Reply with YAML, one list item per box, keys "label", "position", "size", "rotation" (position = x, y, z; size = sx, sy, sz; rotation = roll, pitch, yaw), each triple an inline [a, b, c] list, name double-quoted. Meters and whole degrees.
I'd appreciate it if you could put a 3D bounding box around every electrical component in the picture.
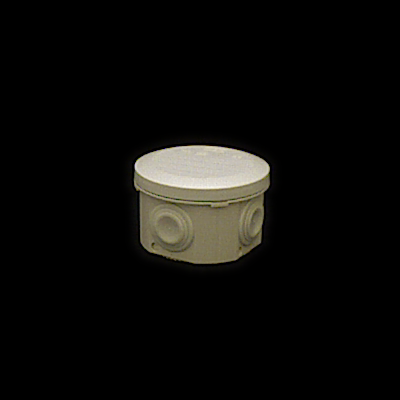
- label: "electrical component"
  position: [0.000, 0.000, 0.640]
  size: [0.080, 0.051, 0.079]
  rotation: [1, 21, 0]
